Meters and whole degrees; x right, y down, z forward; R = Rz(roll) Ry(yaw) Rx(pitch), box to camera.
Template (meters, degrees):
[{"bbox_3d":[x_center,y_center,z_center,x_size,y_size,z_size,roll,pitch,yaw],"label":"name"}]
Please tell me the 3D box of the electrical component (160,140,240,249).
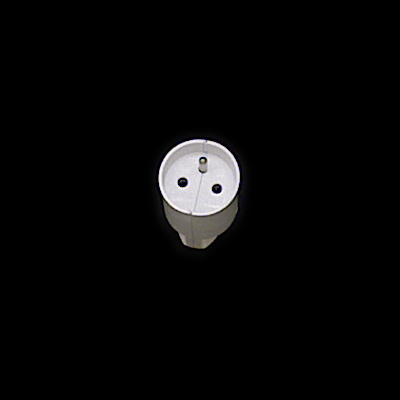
[{"bbox_3d":[0.000,0.000,0.616,0.043,0.043,0.080,0,-17,-1],"label":"electrical component"}]
